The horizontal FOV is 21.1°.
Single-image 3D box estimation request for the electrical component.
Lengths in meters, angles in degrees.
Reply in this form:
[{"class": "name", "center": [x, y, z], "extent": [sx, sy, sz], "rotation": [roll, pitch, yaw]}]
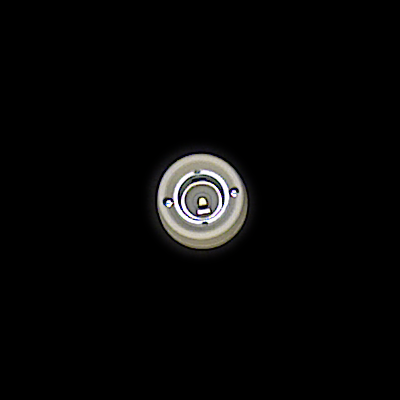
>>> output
[{"class": "electrical component", "center": [0.000, 0.000, 0.634], "extent": [0.055, 0.055, 0.047], "rotation": [0, -7, 2]}]
